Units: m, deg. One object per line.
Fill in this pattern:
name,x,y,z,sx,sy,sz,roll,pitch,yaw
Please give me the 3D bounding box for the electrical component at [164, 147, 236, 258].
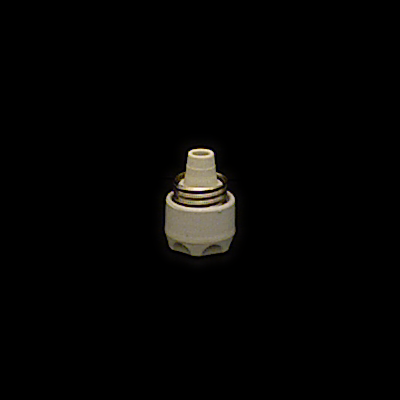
electrical component,0.000,0.000,0.645,0.043,0.063,0.043,1,23,0
